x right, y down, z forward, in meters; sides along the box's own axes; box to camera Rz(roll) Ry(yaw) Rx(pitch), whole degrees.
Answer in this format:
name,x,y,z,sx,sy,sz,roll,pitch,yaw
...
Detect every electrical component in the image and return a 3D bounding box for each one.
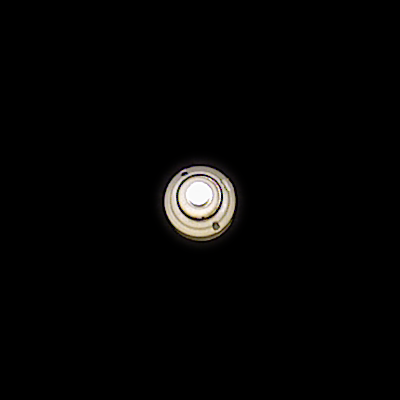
name,x,y,z,sx,sy,sz,roll,pitch,yaw
electrical component,0.000,0.000,0.618,0.040,0.040,0.078,0,-7,1
